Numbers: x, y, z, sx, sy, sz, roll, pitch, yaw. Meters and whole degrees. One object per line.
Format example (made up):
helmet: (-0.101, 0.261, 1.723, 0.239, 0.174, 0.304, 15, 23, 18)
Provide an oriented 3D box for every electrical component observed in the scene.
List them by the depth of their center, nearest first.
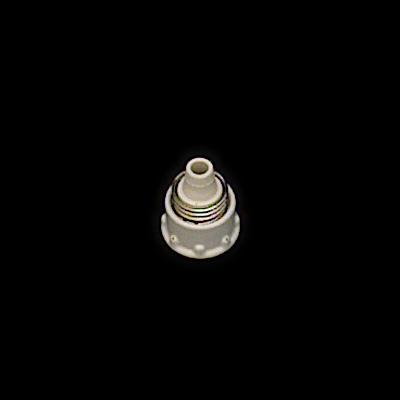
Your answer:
electrical component: (0.000, 0.000, 0.636, 0.048, 0.048, 0.062, 0, -38, 0)
